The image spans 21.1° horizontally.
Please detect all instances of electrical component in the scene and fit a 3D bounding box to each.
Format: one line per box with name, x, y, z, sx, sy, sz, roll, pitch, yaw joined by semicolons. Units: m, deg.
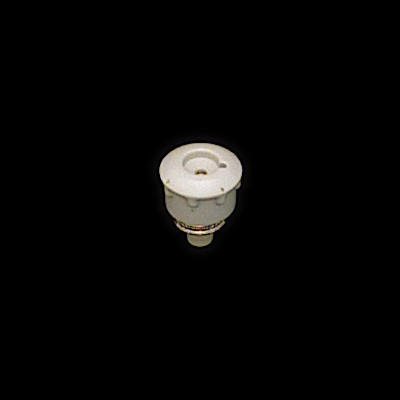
electrical component;0.000;0.000;0.639;0.048;0.062;0.047;1;43;0
